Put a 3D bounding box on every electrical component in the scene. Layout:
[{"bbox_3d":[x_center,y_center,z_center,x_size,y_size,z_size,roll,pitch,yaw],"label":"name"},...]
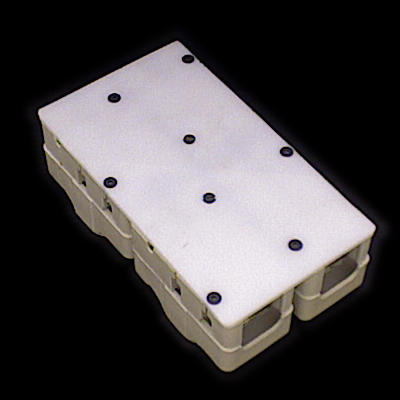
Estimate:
[{"bbox_3d":[0.000,0.000,0.627,0.105,0.185,0.060,-31,-31,-22],"label":"electrical component"}]
